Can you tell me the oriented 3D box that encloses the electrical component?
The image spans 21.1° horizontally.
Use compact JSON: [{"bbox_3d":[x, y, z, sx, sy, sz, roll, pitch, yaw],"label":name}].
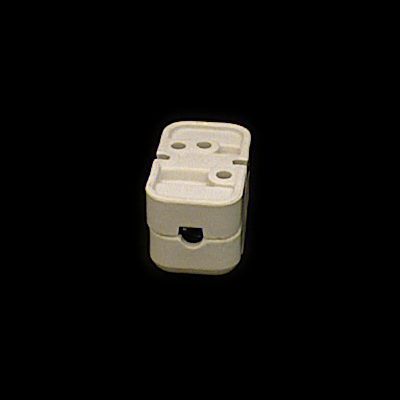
[{"bbox_3d":[0.000,0.000,0.640,0.053,0.060,0.094,4,33,5],"label":"electrical component"}]
